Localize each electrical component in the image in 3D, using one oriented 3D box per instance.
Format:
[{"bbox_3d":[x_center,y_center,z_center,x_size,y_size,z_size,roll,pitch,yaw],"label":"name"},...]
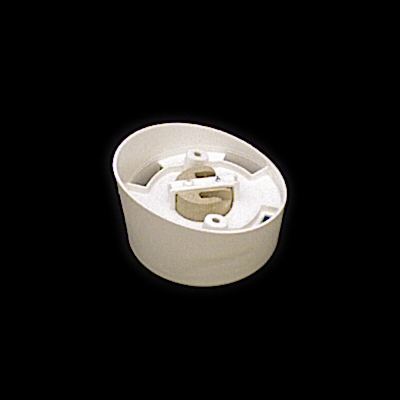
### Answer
[{"bbox_3d":[0.000,0.000,0.628,0.099,0.064,0.098,0,42,0],"label":"electrical component"}]
